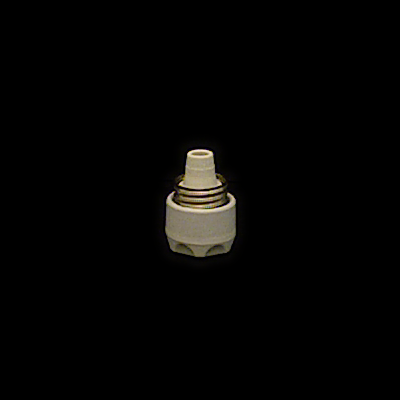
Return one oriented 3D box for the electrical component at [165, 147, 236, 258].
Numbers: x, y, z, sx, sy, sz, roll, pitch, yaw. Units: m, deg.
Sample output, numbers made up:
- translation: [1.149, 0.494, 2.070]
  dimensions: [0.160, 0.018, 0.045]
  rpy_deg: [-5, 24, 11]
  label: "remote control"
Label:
- translation: [0.000, 0.000, 0.646]
  dimensions: [0.043, 0.063, 0.043]
  rpy_deg: [0, 21, 0]
  label: "electrical component"
